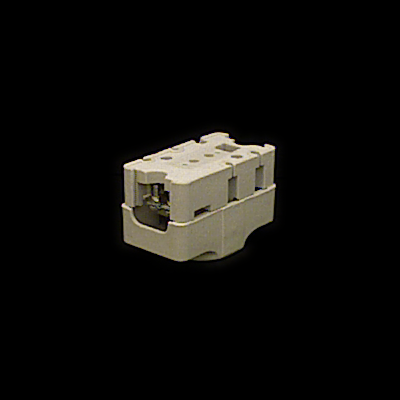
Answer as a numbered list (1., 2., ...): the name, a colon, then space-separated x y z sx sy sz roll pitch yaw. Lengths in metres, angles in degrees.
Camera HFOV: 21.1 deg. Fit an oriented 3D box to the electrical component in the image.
1. electrical component: 0.000 0.000 0.647 0.049 0.056 0.090 18 26 37
